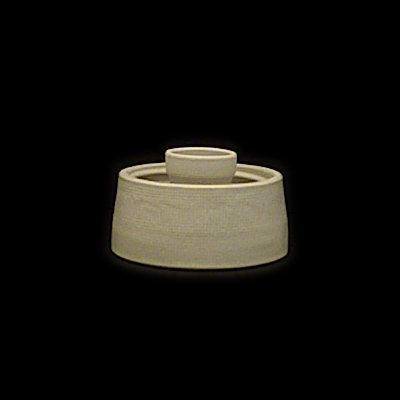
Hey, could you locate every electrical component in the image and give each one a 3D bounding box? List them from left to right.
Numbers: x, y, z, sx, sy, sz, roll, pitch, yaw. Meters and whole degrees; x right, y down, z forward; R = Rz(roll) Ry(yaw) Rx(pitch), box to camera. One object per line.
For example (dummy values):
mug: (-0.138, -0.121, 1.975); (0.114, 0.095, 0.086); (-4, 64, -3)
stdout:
electrical component: (0.000, 0.000, 0.649); (0.108, 0.061, 0.107); (1, 11, 0)
